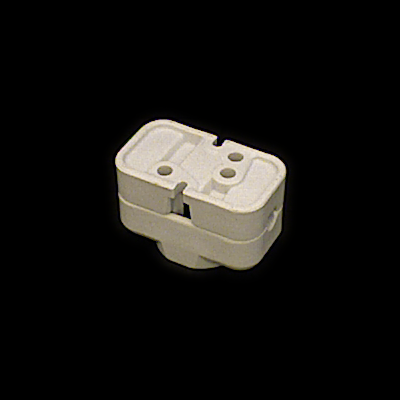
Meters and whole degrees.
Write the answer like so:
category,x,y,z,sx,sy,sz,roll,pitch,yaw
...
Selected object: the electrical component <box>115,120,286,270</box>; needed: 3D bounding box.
category,x,y,z,sx,sy,sz,roll,pitch,yaw
electrical component,0.000,0.000,0.640,0.094,0.060,0.053,20,46,20
